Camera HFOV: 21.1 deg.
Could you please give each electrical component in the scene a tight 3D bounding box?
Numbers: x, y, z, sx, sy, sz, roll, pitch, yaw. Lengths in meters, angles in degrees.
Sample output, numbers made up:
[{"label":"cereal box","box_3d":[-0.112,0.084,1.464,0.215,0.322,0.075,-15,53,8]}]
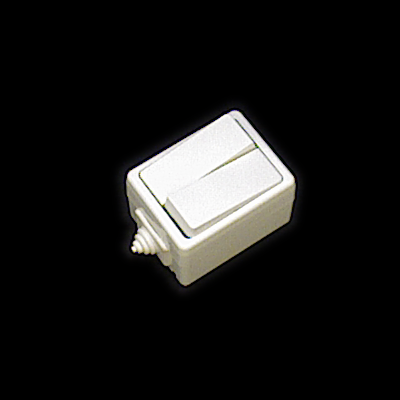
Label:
[{"label":"electrical component","box_3d":[0.000,0.000,0.626,0.096,0.062,0.060,-31,-24,-15]}]
